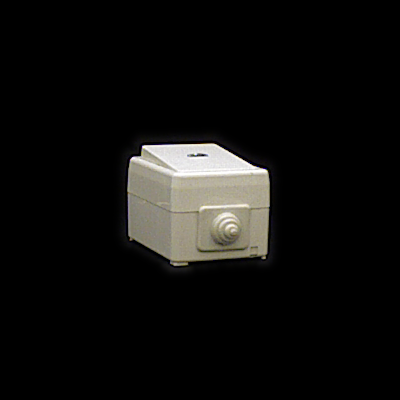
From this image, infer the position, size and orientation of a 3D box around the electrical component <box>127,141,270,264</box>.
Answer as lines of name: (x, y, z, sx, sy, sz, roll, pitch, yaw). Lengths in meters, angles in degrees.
electrical component: (0.000, 0.000, 0.642, 0.062, 0.061, 0.095, -4, 11, -23)
